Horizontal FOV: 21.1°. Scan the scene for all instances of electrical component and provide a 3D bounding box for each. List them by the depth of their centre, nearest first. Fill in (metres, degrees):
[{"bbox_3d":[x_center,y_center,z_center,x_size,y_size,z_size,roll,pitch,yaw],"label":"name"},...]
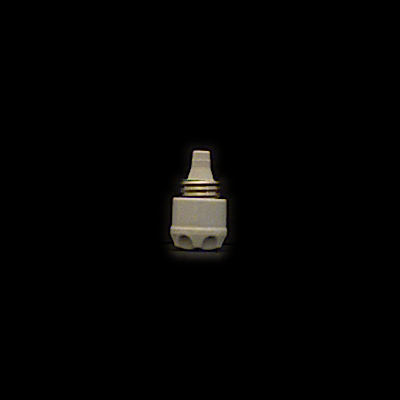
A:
[{"bbox_3d":[0.000,0.000,0.664,0.035,0.061,0.035,2,3,0],"label":"electrical component"}]
